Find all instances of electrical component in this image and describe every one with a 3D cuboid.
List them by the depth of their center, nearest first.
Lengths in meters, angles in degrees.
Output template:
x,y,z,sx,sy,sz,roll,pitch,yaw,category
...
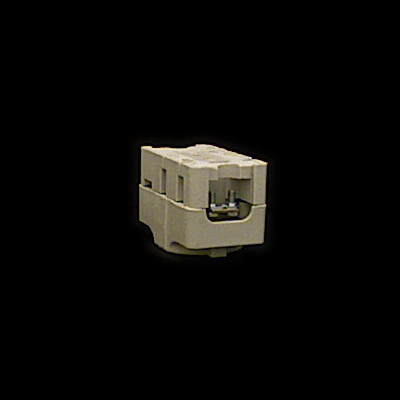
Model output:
x,y,z,sx,sy,sz,roll,pitch,yaw,category
0.000,0.000,0.652,0.050,0.056,0.088,-3,13,-23,electrical component
